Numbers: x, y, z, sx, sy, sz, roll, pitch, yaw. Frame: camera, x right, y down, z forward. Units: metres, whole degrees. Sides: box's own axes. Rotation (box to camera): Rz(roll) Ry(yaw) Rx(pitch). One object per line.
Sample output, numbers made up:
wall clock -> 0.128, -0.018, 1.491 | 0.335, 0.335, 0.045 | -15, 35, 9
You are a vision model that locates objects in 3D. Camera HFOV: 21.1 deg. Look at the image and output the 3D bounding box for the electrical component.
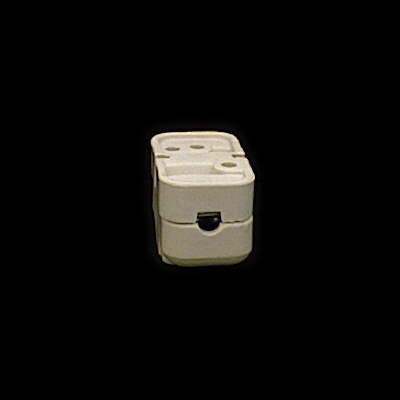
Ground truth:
electrical component -> 0.000, 0.000, 0.644 | 0.054, 0.060, 0.093 | -2, 22, -7
